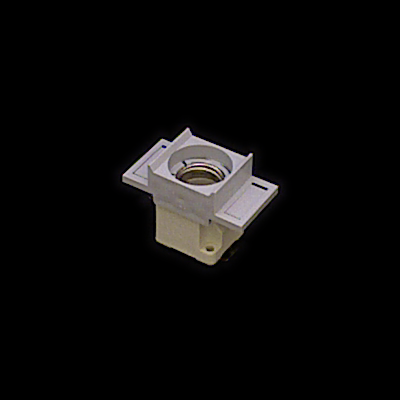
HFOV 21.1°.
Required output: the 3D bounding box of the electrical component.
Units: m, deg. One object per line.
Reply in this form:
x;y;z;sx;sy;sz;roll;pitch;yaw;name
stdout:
0.000;0.000;0.630;0.080;0.064;0.042;24;48;23;electrical component
